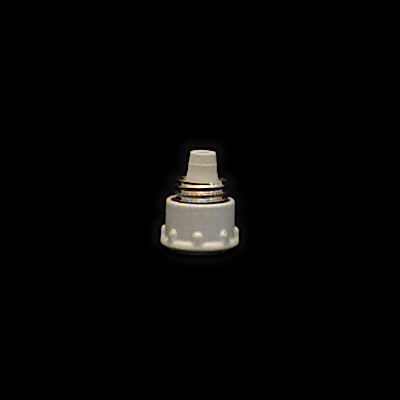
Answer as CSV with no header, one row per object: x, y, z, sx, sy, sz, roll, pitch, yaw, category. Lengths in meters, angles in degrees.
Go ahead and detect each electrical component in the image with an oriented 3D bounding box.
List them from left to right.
0.000,0.000,0.652,0.048,0.062,0.048,2,12,0,electrical component
